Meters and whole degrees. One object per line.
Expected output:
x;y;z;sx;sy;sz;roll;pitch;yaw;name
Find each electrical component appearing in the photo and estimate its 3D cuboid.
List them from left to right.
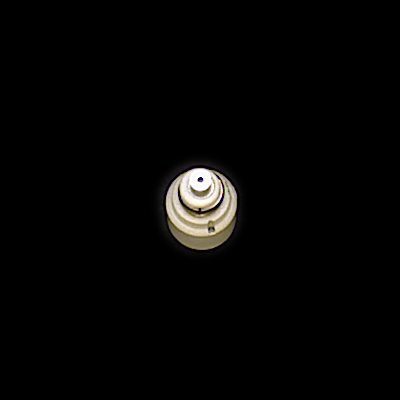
0.000;0.000;0.617;0.040;0.040;0.078;0;-17;1;electrical component
